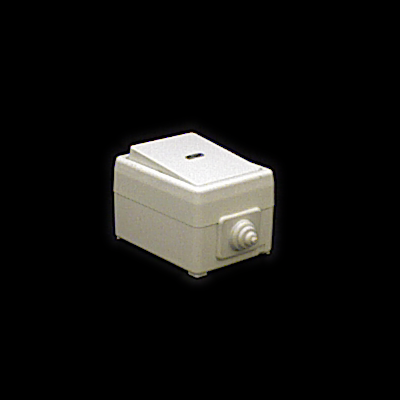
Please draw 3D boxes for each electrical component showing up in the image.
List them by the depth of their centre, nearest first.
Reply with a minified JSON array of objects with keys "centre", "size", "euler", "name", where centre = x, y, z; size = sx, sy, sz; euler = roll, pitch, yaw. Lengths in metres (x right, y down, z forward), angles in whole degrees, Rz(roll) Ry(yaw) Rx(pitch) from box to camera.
[{"centre":[0.000,0.000,0.637],"size":[0.061,0.061,0.095],"euler":[-16,27,-38],"name":"electrical component"}]
